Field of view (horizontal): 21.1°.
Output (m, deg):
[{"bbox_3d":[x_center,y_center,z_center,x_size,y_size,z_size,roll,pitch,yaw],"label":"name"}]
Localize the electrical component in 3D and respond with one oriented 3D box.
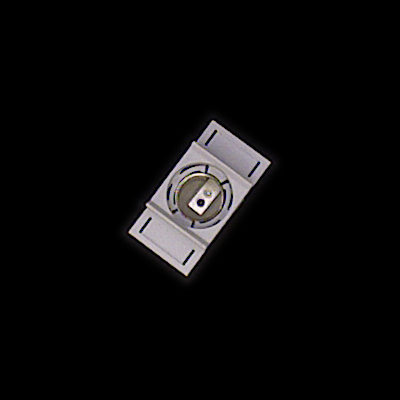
[{"bbox_3d":[0.000,0.000,0.625,0.042,0.081,0.063,37,-5,5],"label":"electrical component"}]
